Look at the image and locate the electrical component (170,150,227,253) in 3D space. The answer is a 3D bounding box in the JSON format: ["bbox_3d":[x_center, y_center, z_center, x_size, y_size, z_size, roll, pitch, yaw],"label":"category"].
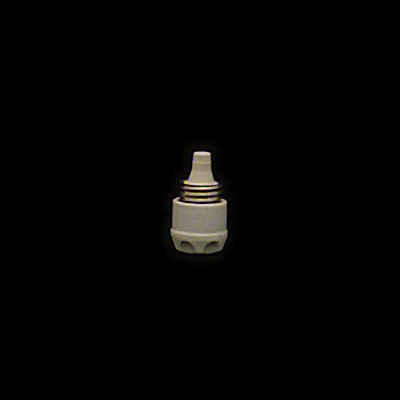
[{"bbox_3d":[0.000,0.000,0.658,0.035,0.062,0.035,3,12,0],"label":"electrical component"}]
